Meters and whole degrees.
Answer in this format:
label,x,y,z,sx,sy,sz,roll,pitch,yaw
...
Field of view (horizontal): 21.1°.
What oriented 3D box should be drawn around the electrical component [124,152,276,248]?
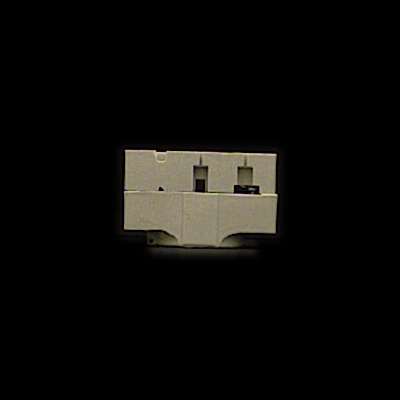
label,x,y,z,sx,sy,sz,roll,pitch,yaw
electrical component,0.000,0.000,0.656,0.090,0.056,0.050,1,2,-1
